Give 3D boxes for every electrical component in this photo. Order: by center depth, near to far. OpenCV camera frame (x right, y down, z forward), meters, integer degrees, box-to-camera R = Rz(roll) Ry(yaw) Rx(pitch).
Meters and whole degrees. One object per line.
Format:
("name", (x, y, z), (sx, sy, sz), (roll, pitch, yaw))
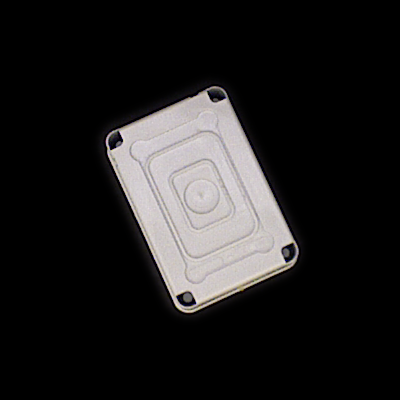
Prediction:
("electrical component", (0.000, 0.000, 0.628), (0.078, 0.113, 0.057), (-24, -6, -2))
